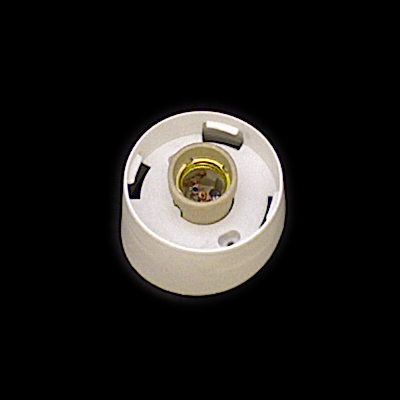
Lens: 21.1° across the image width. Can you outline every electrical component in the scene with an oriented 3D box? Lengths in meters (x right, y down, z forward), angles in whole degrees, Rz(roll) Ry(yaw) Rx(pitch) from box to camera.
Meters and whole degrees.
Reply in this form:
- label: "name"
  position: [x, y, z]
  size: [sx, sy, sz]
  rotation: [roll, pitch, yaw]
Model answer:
- label: "electrical component"
  position: [0.000, 0.000, 0.625]
  size: [0.099, 0.099, 0.064]
  rotation: [0, -27, 0]
